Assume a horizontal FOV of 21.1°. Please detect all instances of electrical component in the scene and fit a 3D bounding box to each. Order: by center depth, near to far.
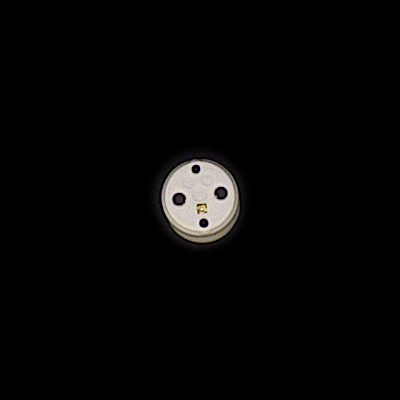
[{"bbox_3d":[0.000,0.000,0.630,0.045,0.045,0.055,0,-7,1],"label":"electrical component"}]
